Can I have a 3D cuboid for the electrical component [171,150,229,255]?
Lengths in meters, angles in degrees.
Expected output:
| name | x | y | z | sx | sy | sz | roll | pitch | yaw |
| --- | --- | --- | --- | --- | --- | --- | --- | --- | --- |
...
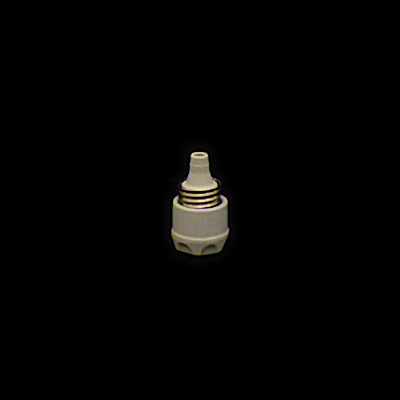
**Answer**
| name | x | y | z | sx | sy | sz | roll | pitch | yaw |
| --- | --- | --- | --- | --- | --- | --- | --- | --- | --- |
| electrical component | 0.000 | 0.000 | 0.650 | 0.035 | 0.062 | 0.034 | -1 | 22 | 1 |
